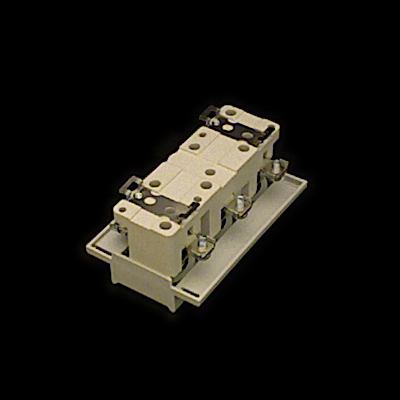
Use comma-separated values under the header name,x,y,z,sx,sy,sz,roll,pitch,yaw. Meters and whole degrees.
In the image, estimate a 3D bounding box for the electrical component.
name,x,y,z,sx,sy,sz,roll,pitch,yaw
electrical component,0.000,0.000,0.638,0.078,0.063,0.121,24,47,24
